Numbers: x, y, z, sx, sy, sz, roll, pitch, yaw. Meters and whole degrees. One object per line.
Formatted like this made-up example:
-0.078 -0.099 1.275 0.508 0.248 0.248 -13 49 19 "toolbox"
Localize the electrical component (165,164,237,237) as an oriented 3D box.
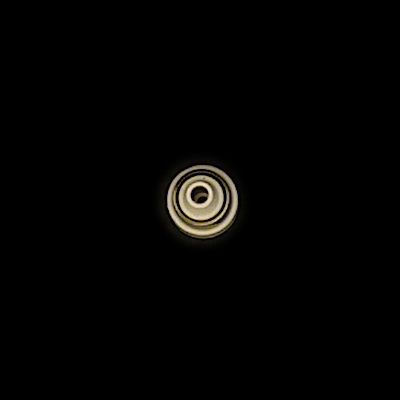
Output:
0.000 0.000 0.635 0.043 0.043 0.062 0 -6 2 "electrical component"
